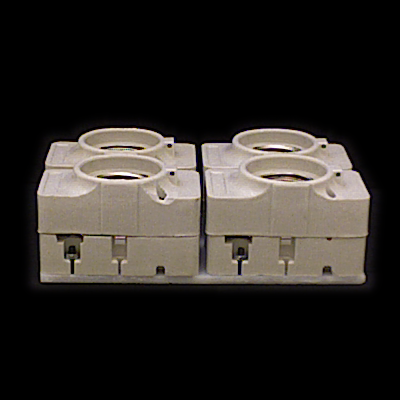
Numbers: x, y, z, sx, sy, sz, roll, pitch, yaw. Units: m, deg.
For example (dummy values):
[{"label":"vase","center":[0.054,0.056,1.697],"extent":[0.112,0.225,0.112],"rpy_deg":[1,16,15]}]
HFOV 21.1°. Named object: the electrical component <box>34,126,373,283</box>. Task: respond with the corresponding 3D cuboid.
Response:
[{"label":"electrical component","center":[0.000,0.000,0.640],"extent":[0.186,0.061,0.104],"rpy_deg":[0,20,-3]}]
